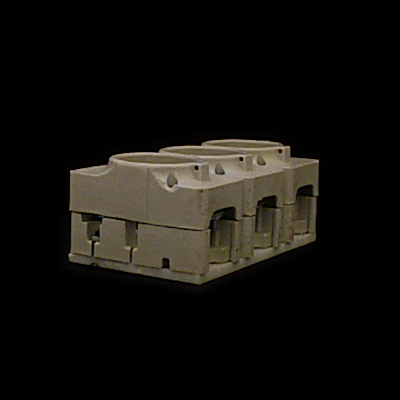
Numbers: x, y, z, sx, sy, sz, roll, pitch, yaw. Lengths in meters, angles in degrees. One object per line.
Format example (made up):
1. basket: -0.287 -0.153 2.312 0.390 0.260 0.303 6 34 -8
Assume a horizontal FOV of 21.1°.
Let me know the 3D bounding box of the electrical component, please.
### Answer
1. electrical component: 0.000 0.000 0.651 0.089 0.062 0.149 8 12 29
